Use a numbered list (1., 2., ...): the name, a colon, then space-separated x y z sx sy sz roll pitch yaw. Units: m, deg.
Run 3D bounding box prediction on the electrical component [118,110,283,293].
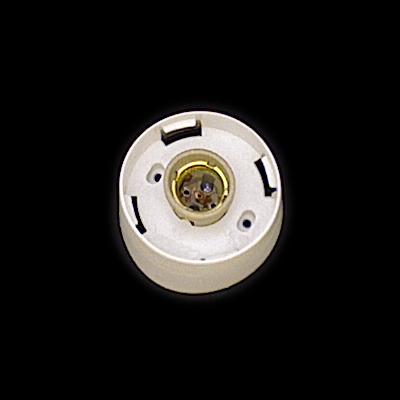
1. electrical component: 0.000 0.000 0.625 0.099 0.099 0.064 0 -17 0
